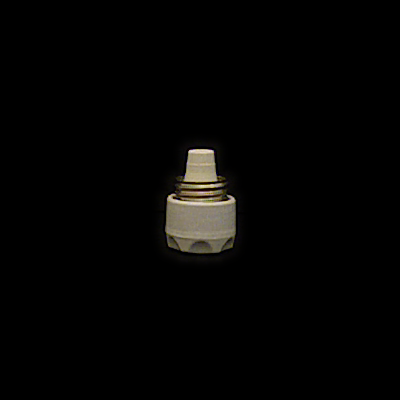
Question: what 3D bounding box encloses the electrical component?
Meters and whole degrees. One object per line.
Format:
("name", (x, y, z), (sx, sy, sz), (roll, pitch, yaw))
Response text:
("electrical component", (0.000, 0.000, 0.652), (0.043, 0.062, 0.043), (1, 11, 0))
